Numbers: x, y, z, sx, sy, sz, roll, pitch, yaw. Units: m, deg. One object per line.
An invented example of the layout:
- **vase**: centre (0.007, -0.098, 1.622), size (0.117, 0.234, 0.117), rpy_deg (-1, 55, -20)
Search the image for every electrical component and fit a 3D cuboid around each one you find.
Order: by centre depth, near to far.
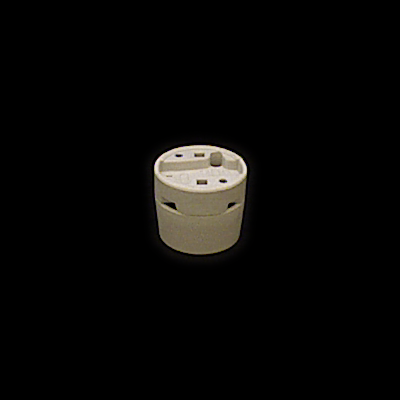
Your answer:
- **electrical component**: centre (0.000, 0.000, 0.640), size (0.055, 0.047, 0.055), rpy_deg (1, 32, 0)
